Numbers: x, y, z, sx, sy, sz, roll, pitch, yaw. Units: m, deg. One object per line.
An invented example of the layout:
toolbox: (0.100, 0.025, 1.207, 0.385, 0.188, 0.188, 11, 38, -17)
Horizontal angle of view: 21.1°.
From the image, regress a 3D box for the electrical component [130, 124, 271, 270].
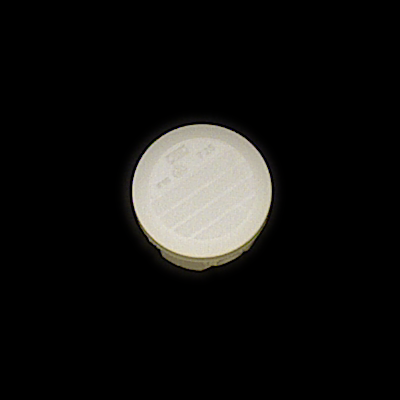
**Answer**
electrical component: (0.000, 0.000, 0.630, 0.080, 0.080, 0.050, 0, -17, 0)
